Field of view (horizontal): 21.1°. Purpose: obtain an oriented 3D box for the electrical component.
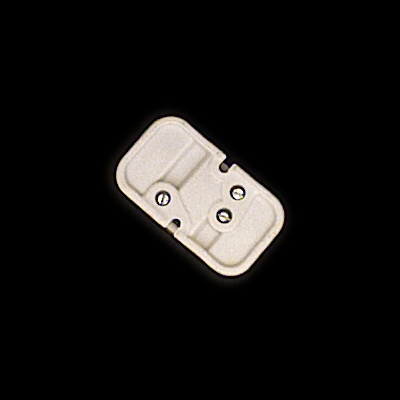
[{"bbox_3d":[0.000,0.000,0.637,0.095,0.054,0.059,40,-4,5],"label":"electrical component"}]
